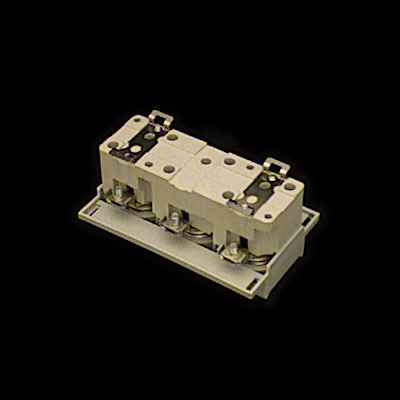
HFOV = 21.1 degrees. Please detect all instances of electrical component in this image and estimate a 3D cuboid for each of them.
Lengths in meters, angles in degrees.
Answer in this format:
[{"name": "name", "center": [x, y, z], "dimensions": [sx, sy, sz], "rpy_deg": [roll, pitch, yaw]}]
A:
[{"name": "electrical component", "center": [0.000, 0.000, 0.635], "dimensions": [0.120, 0.063, 0.078], "rpy_deg": [24, 48, 23]}]
